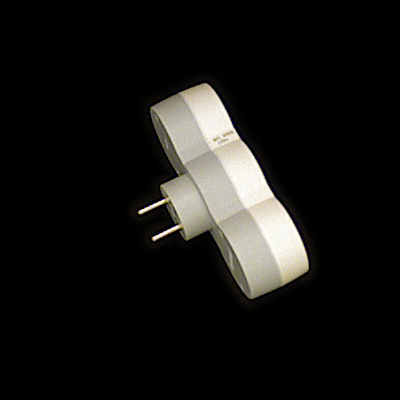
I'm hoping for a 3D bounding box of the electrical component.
[{"bbox_3d":[0.000,0.000,0.637,0.074,0.137,0.052,-25,-24,-10],"label":"electrical component"}]
